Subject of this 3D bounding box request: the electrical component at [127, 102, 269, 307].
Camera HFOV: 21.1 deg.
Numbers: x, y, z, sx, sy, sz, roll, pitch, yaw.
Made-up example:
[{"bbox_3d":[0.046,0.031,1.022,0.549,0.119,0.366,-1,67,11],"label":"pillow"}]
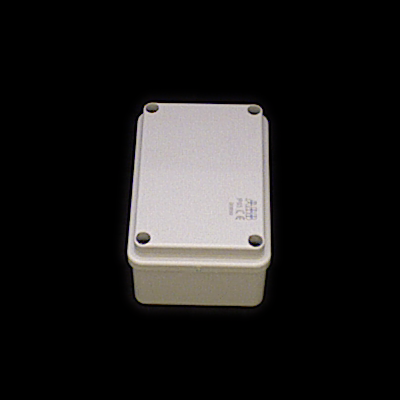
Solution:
[{"bbox_3d":[0.000,0.000,0.628,0.078,0.112,0.057,1,-38,0],"label":"electrical component"}]
